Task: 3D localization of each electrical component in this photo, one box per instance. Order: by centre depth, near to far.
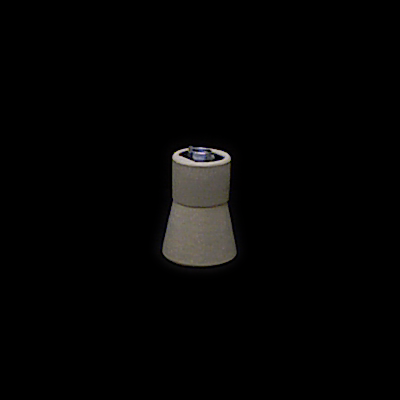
[{"bbox_3d":[0.000,0.000,0.638,0.044,0.066,0.044,2,21,0],"label":"electrical component"}]
